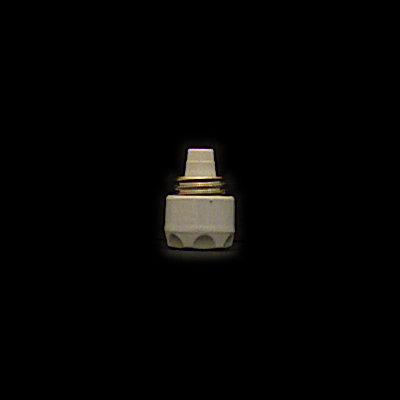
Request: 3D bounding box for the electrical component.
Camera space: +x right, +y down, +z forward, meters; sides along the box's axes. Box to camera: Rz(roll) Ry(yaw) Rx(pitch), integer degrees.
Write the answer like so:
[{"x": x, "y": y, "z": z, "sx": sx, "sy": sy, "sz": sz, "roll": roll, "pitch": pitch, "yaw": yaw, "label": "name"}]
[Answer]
[{"x": 0.000, "y": 0.000, "z": 0.655, "sx": 0.043, "sy": 0.062, "sz": 0.043, "roll": 1, "pitch": 3, "yaw": 1, "label": "electrical component"}]
